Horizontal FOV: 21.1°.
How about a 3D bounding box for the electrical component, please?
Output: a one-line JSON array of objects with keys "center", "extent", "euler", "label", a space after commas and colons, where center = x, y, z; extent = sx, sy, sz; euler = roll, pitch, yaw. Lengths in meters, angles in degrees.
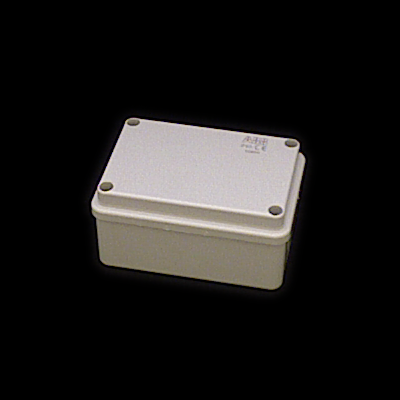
[{"center": [0.000, 0.000, 0.633], "extent": [0.113, 0.057, 0.077], "euler": [8, 42, 8], "label": "electrical component"}]
